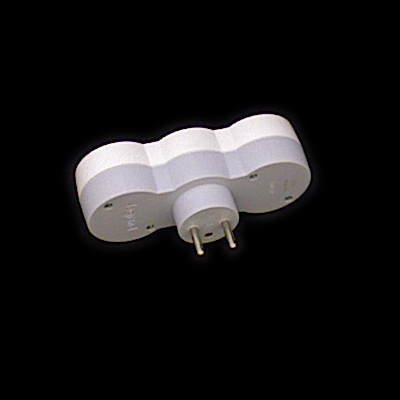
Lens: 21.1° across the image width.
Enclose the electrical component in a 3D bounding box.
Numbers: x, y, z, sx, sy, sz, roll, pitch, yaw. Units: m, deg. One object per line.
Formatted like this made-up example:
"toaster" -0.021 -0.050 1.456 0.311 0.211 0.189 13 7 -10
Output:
"electrical component" 0.000 0.000 0.632 0.138 0.073 0.052 -12 -35 -10
